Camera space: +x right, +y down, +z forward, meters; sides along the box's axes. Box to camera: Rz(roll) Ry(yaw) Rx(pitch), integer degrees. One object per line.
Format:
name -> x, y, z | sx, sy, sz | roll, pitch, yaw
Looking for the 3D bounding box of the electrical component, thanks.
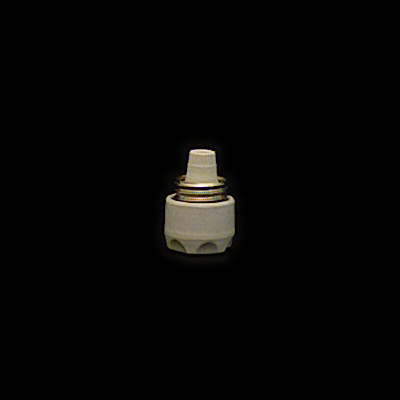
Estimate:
electrical component -> 0.000, 0.000, 0.650 | 0.043, 0.062, 0.043 | 2, 13, 0
